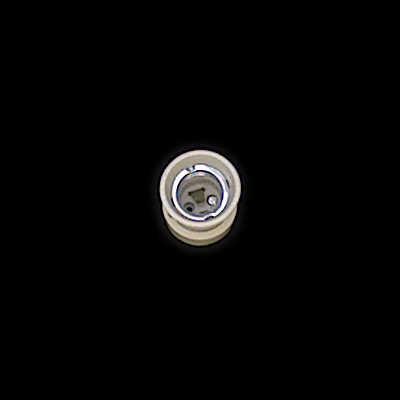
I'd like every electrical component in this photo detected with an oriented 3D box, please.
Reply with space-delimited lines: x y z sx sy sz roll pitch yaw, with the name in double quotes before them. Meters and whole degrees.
"electrical component" 0.000 0.000 0.628 0.045 0.045 0.055 0 -16 0
